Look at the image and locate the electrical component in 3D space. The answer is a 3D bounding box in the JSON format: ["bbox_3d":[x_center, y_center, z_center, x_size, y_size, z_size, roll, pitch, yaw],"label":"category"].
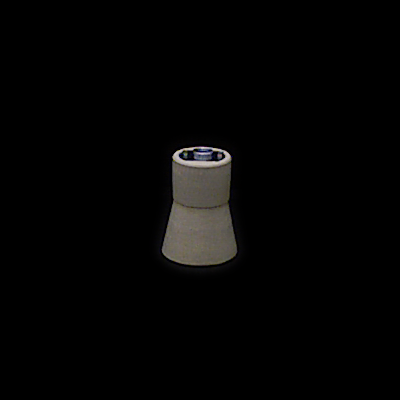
[{"bbox_3d":[0.000,0.000,0.636,0.044,0.066,0.044,1,22,0],"label":"electrical component"}]
